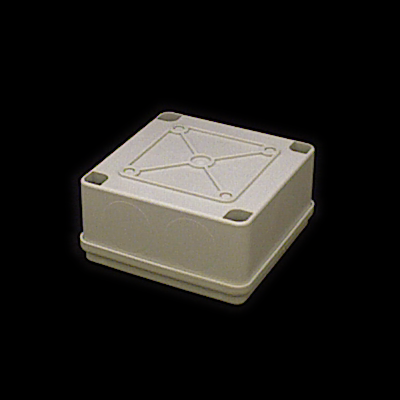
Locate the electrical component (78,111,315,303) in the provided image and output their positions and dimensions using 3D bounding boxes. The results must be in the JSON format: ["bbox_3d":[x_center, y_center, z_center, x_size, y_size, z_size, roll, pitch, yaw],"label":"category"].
[{"bbox_3d":[0.000,0.000,0.636,0.108,0.057,0.108,15,34,22],"label":"electrical component"}]
